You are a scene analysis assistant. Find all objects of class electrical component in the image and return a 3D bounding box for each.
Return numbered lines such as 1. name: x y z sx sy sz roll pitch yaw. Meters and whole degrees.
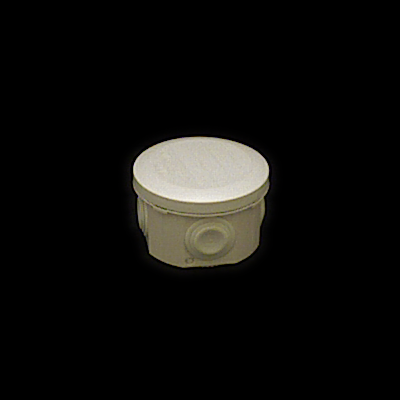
1. electrical component: 0.000 0.000 0.638 0.080 0.051 0.079 1 31 0
